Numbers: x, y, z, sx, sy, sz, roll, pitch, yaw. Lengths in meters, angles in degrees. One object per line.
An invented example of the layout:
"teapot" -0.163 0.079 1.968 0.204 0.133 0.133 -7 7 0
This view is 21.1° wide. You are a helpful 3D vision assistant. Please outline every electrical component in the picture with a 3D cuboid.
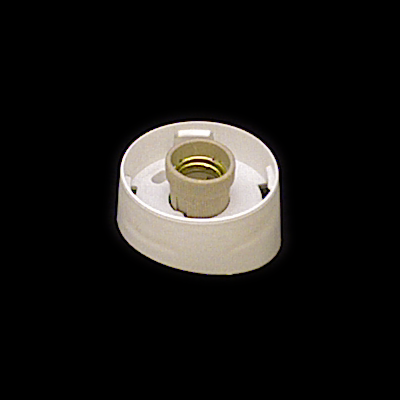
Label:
"electrical component" 0.000 0.000 0.629 0.099 0.064 0.098 1 42 0
